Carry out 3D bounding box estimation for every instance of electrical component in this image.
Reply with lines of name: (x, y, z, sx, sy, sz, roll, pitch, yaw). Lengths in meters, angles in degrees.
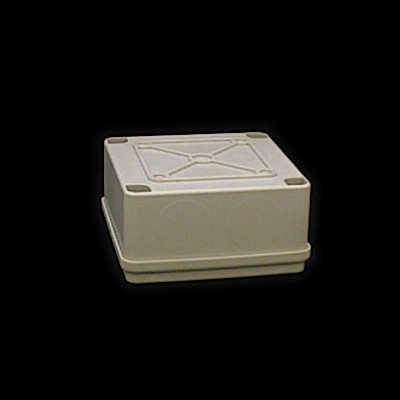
electrical component: (0.000, 0.000, 0.639, 0.109, 0.057, 0.107, -3, 22, -11)
